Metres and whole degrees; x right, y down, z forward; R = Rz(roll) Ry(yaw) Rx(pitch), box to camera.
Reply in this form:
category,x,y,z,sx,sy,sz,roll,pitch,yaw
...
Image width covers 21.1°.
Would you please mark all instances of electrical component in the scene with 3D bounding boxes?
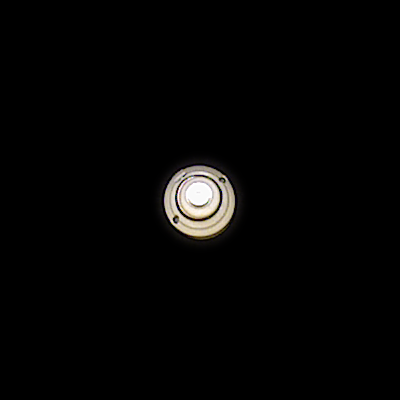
category,x,y,z,sx,sy,sz,roll,pitch,yaw
electrical component,0.000,0.000,0.618,0.040,0.040,0.078,0,-5,1
